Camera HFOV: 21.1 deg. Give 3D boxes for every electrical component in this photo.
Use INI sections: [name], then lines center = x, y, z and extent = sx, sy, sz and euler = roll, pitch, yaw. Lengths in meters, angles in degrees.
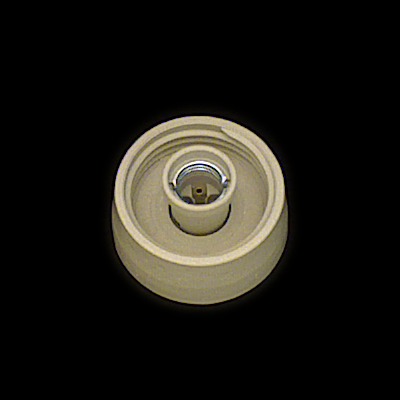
[electrical component]
center = 0.000, 0.000, 0.634
extent = 0.108, 0.108, 0.060
euler = 0, -27, 0
